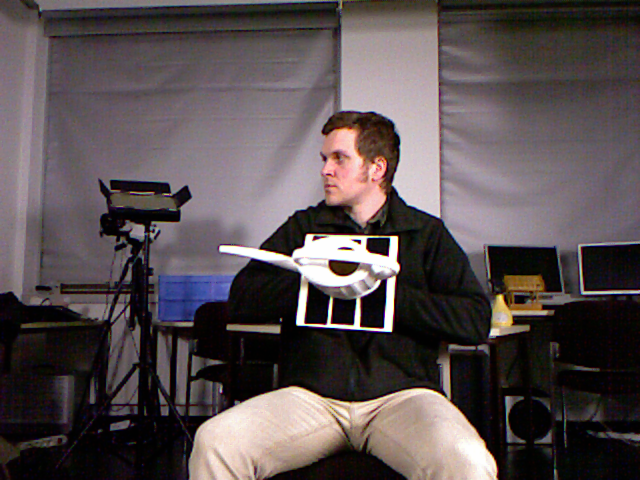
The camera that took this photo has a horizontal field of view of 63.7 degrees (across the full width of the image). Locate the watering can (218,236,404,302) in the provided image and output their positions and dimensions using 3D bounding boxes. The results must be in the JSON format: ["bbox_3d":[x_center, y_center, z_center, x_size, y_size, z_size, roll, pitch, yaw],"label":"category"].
[{"bbox_3d":[-0.007,0.051,1.022,0.349,0.106,0.222,4,-18,14],"label":"watering can"}]
